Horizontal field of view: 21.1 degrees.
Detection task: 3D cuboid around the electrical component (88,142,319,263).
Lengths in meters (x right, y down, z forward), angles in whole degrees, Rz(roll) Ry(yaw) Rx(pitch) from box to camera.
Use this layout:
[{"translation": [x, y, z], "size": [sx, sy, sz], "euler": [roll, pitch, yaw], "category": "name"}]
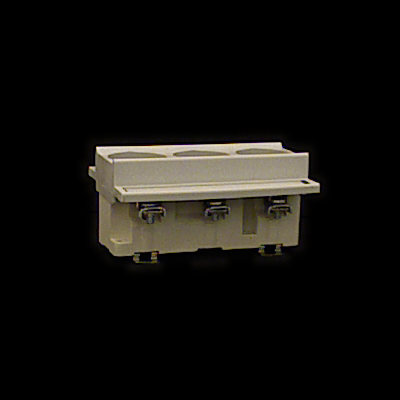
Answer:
[{"translation": [0.000, 0.000, 0.656], "size": [0.121, 0.063, 0.078], "euler": [-3, 13, -19], "category": "electrical component"}]
